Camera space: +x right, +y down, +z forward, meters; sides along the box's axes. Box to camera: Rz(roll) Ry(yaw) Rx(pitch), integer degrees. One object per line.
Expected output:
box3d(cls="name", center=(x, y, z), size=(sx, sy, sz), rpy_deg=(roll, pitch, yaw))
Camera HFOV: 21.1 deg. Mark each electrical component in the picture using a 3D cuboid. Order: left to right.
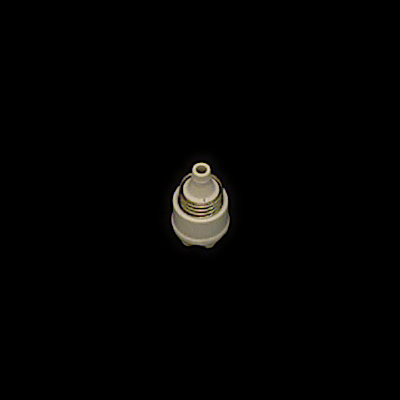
box3d(cls="electrical component", center=(0.000, 0.000, 0.641), size=(0.035, 0.035, 0.062), rpy_deg=(0, -36, -1))
